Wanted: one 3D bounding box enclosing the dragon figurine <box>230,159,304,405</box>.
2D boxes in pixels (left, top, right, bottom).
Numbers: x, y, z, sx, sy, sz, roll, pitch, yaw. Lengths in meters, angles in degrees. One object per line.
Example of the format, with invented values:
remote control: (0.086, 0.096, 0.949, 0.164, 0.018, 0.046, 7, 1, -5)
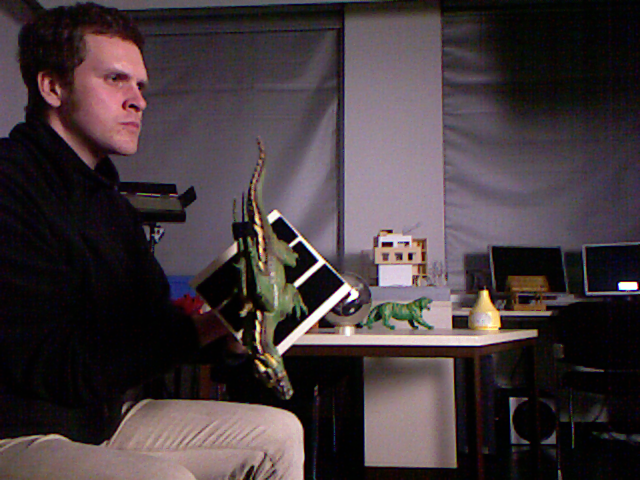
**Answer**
dragon figurine: (-0.091, 0.032, 0.776, 0.123, 0.417, 0.240, -8, -14, -4)
